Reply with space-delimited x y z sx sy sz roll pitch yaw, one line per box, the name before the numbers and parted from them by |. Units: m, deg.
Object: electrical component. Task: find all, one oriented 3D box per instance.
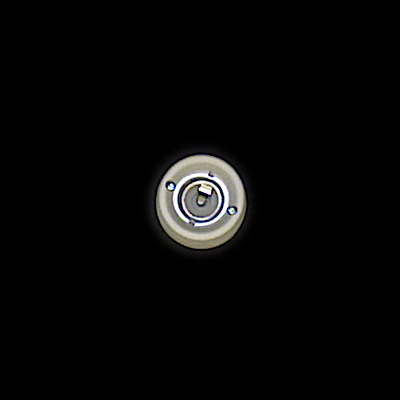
electrical component | 0.000 0.000 0.633 0.055 0.055 0.047 0 -6 0
